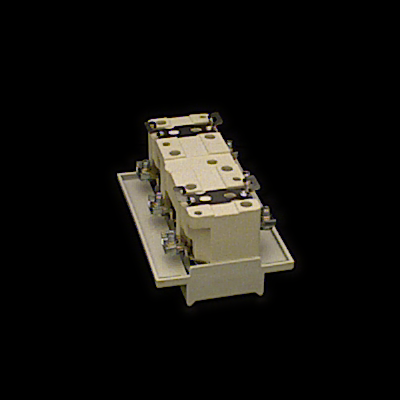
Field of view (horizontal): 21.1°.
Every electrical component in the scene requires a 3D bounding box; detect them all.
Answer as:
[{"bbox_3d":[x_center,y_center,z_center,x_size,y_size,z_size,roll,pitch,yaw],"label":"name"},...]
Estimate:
[{"bbox_3d":[0.000,0.000,0.640,0.079,0.064,0.119,-8,33,-12],"label":"electrical component"}]
